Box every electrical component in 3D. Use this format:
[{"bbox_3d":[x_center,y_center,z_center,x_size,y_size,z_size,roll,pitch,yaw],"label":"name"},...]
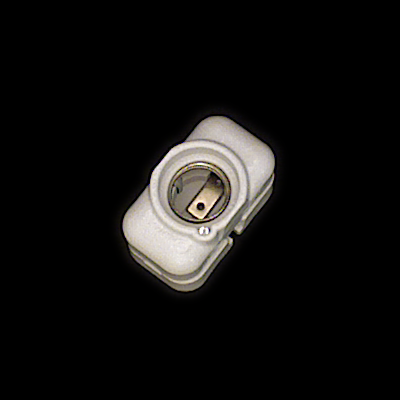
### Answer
[{"bbox_3d":[0.000,0.000,0.633,0.053,0.095,0.059,36,-13,10],"label":"electrical component"}]
